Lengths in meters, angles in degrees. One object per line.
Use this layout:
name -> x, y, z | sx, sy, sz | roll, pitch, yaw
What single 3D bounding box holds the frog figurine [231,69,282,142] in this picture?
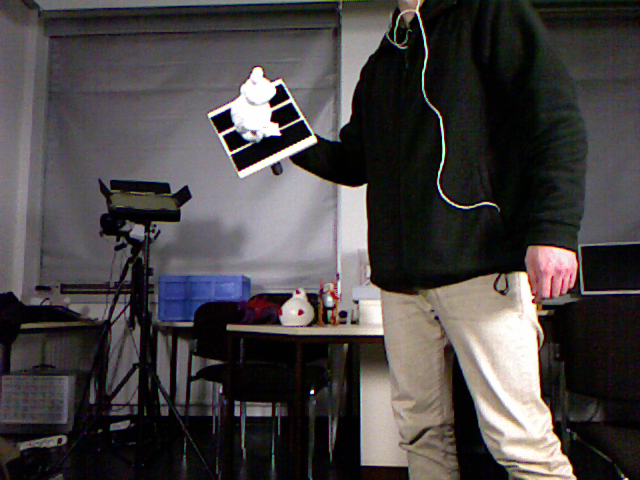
frog figurine -> -0.157, -0.308, 1.189 | 0.123, 0.140, 0.157 | -7, -23, 6
